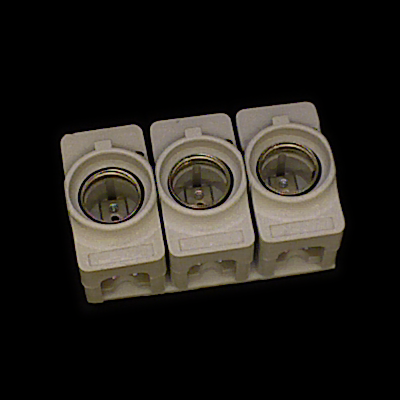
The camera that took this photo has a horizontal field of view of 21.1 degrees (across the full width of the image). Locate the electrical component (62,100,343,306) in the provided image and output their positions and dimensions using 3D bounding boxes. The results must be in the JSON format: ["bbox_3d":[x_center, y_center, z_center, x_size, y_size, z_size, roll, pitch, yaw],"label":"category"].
[{"bbox_3d":[0.000,0.000,0.632,0.150,0.089,0.062,-8,-28,-5],"label":"electrical component"}]
